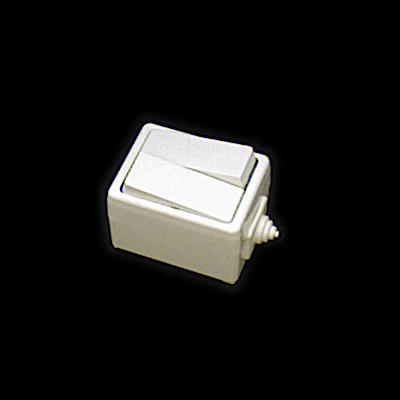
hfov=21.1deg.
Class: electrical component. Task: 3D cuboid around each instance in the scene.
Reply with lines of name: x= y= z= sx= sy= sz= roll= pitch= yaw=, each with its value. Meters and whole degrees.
electrical component: x=0.000 y=0.000 z=0.628 sx=0.096 sy=0.061 sz=0.061 roll=17 pitch=-36 yaw=12
